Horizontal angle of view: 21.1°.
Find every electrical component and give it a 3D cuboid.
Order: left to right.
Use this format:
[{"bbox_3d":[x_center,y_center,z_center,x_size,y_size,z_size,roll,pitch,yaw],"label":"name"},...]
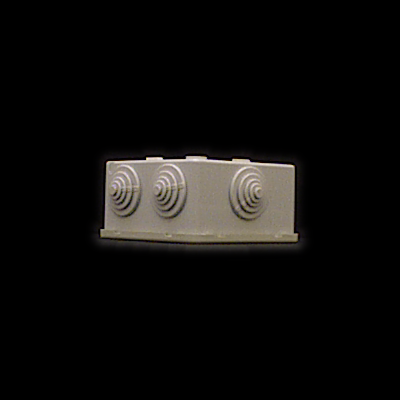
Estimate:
[{"bbox_3d":[0.000,0.000,0.650,0.100,0.048,0.099,1,0,-42],"label":"electrical component"}]
